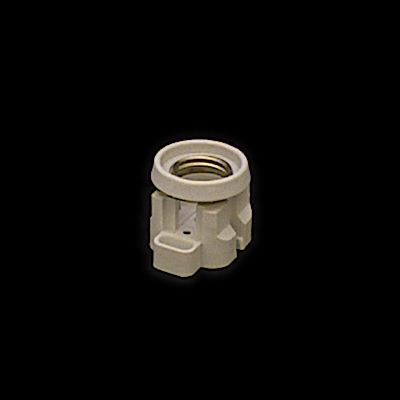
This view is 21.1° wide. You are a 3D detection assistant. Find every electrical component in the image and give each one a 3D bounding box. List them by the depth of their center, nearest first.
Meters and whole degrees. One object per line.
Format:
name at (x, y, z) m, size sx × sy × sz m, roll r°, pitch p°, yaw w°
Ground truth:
electrical component at (0.000, 0.000, 0.637) m, size 0.057 × 0.057 × 0.078 m, roll 16°, pitch 34°, yaw 23°
